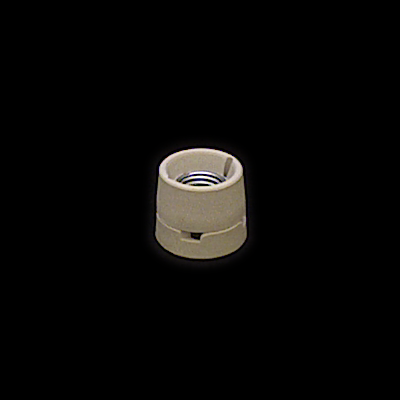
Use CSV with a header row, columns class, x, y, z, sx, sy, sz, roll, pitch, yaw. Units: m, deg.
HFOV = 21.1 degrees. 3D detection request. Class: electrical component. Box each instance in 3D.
class,x,y,z,sx,sy,sz,roll,pitch,yaw
electrical component,0.000,0.000,0.637,0.055,0.047,0.055,0,32,0
